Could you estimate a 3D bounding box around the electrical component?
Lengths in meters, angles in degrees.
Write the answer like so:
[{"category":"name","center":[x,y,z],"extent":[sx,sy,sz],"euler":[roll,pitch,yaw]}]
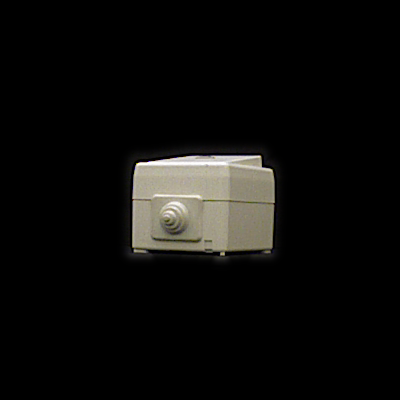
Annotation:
[{"category":"electrical component","center":[0.000,0.000,0.648],"extent":[0.061,0.061,0.096],"euler":[1,0,24]}]
